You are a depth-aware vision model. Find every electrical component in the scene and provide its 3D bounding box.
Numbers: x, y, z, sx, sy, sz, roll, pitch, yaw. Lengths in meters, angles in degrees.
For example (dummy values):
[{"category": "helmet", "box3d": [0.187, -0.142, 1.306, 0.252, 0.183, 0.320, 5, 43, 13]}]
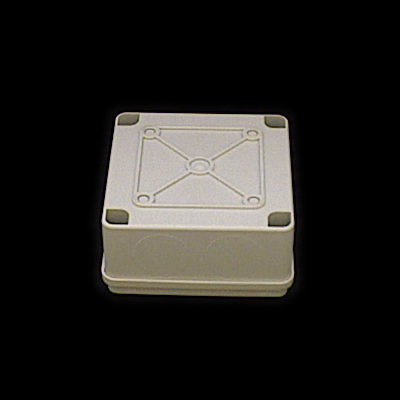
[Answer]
[{"category": "electrical component", "box3d": [0.000, 0.000, 0.632, 0.109, 0.057, 0.107, 1, 41, 0]}]
